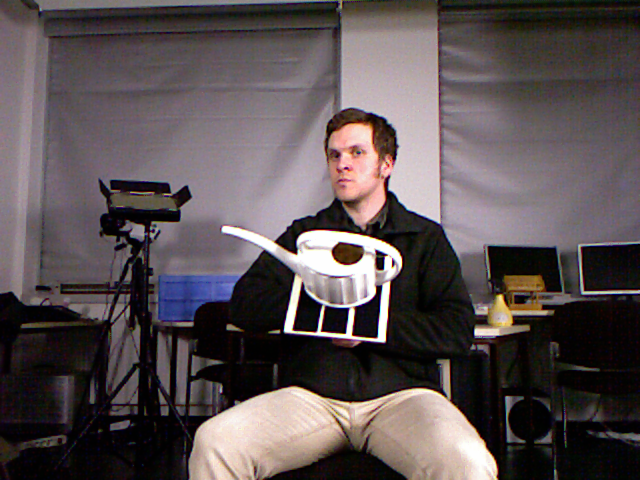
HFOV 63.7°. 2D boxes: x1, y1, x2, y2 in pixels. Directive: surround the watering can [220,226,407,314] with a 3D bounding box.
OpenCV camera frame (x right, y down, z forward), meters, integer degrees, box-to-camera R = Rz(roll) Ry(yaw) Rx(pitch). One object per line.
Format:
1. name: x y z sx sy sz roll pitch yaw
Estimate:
1. watering can: -0.008 0.046 1.008 0.349 0.107 0.220 7 -36 9
